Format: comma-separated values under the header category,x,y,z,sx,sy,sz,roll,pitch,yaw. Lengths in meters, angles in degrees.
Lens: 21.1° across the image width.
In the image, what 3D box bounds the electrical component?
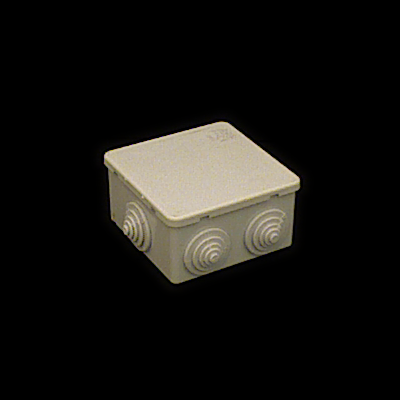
category,x,y,z,sx,sy,sz,roll,pitch,yaw
electrical component,0.000,0.000,0.646,0.100,0.049,0.098,-17,36,-26
